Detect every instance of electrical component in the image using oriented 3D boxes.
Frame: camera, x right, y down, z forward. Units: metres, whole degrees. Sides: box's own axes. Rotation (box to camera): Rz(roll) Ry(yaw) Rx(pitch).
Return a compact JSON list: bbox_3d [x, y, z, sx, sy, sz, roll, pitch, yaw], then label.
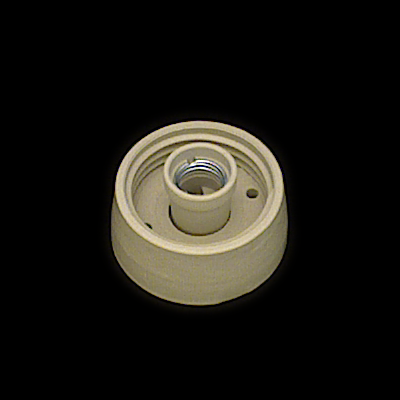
[{"bbox_3d":[0.000,0.000,0.634,0.108,0.107,0.060,0,-37,-1],"label":"electrical component"}]
